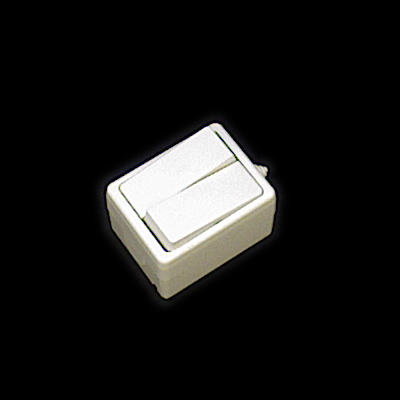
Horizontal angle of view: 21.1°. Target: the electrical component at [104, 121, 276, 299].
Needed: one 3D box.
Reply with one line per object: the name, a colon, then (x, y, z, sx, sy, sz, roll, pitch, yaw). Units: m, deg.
electrical component: (0.000, 0.000, 0.627, 0.096, 0.062, 0.061, -31, -23, -15)
